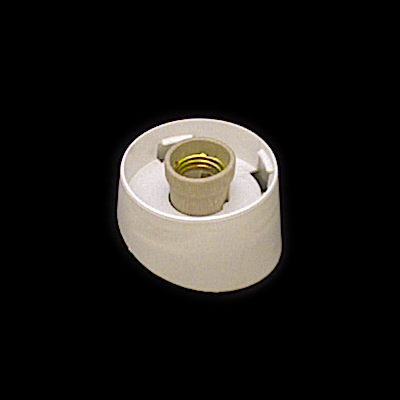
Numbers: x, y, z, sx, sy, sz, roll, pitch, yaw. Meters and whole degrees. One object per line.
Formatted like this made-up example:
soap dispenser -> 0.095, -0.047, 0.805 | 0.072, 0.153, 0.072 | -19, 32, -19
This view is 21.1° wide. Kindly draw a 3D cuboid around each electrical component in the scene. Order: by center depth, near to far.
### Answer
electrical component -> 0.000, 0.000, 0.629 | 0.099, 0.064, 0.098 | 1, 42, -1
